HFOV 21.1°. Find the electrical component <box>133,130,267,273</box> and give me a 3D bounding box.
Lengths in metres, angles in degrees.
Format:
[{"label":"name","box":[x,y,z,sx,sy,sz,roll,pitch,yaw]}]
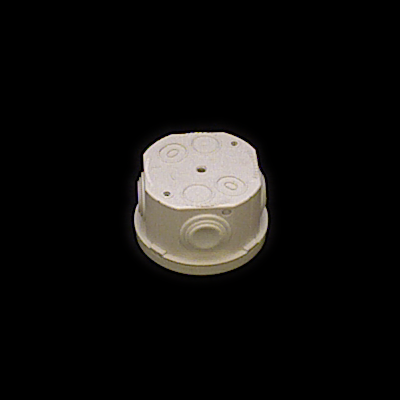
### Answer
[{"label":"electrical component","box":[0.000,0.000,0.633,0.080,0.051,0.080,0,43,0]}]
